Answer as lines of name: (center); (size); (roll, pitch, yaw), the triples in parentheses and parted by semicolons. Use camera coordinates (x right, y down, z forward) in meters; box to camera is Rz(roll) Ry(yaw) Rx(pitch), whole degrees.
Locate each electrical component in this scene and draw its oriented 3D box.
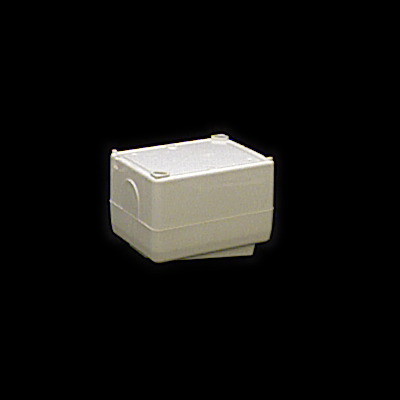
electrical component: (0.000, 0.000, 0.644); (0.096, 0.062, 0.061); (-11, 23, -28)
